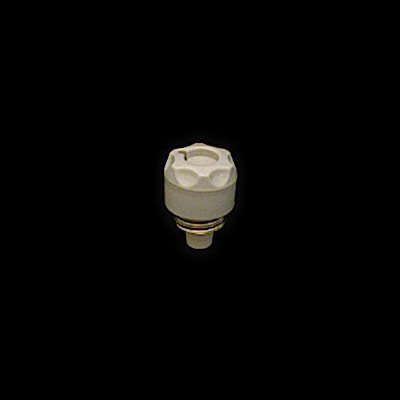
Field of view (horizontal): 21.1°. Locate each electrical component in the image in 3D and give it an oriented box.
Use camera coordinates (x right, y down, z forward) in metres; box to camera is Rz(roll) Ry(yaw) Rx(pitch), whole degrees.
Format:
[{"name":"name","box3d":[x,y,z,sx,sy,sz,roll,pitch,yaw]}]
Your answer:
[{"name":"electrical component","box3d":[0.000,0.000,0.642,0.043,0.063,0.043,2,32,0]}]
